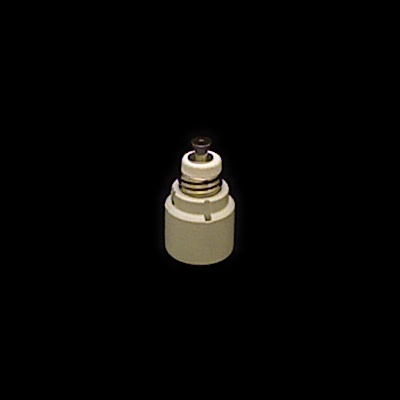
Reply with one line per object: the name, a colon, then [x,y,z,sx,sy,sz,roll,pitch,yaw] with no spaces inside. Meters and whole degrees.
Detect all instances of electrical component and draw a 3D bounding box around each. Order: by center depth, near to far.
electrical component: [0.000,0.000,0.631,0.040,0.079,0.039,1,32,-1]
